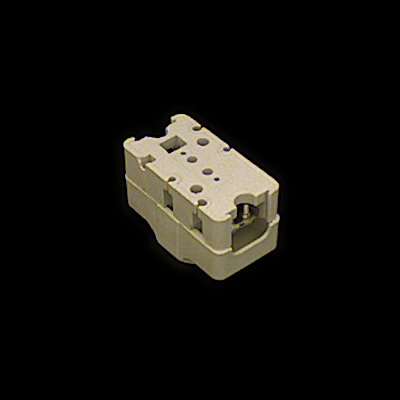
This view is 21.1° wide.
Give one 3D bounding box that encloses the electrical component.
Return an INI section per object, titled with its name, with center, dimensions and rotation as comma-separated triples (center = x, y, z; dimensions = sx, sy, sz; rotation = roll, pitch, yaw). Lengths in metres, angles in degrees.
[electrical component]
center = 0.000, 0.000, 0.639
dimensions = 0.050, 0.056, 0.088
rotation = -30, 50, -28
